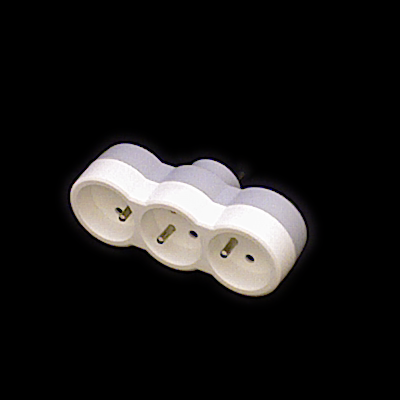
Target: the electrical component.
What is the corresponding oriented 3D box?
[{"bbox_3d":[0.000,0.000,0.634,0.137,0.052,0.073,19,43,20],"label":"electrical component"}]
